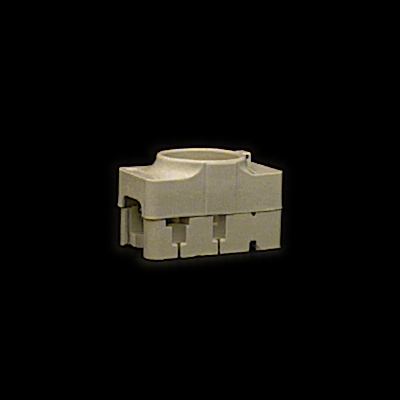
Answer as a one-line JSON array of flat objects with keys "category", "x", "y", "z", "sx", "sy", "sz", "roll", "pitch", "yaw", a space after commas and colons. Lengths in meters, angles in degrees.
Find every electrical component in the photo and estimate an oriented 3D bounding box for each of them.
[{"category": "electrical component", "x": 0.000, "y": 0.000, "z": 0.651, "sx": 0.090, "sy": 0.056, "sz": 0.049, "roll": -5, "pitch": 13, "yaw": -28}]
